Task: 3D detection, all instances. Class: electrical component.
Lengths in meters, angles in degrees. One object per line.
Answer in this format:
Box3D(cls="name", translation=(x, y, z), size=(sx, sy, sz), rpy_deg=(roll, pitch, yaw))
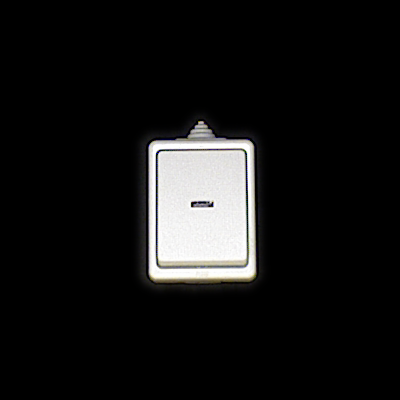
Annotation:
Box3D(cls="electrical component", translation=(0.000, 0.000, 0.627), size=(0.062, 0.096, 0.061), rpy_deg=(-1, -7, 0))
